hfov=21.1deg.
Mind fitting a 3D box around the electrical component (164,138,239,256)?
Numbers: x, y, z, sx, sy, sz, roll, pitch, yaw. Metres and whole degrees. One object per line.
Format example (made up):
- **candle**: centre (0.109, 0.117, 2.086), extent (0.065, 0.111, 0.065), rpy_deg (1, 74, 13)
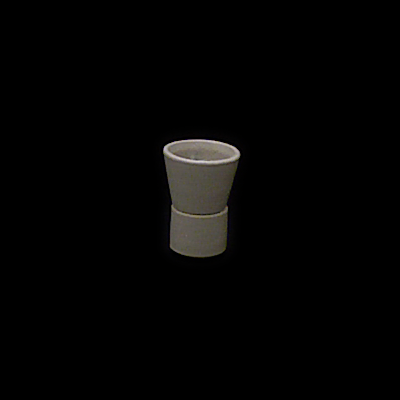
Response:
- **electrical component**: centre (0.000, 0.000, 0.639), extent (0.044, 0.066, 0.044), rpy_deg (2, 21, -1)
